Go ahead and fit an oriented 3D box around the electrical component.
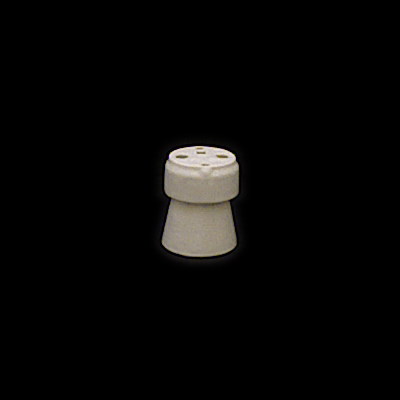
[{"bbox_3d":[0.000,0.000,0.640,0.045,0.056,0.044,1,22,0],"label":"electrical component"}]
